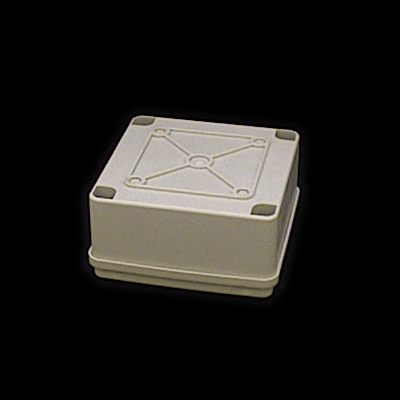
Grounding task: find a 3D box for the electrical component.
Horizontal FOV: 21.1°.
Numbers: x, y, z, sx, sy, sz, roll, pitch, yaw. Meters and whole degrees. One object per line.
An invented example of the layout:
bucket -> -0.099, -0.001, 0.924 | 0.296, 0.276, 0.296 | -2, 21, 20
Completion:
electrical component -> 0.000, 0.000, 0.633 | 0.108, 0.057, 0.107 | 6, 32, 9
